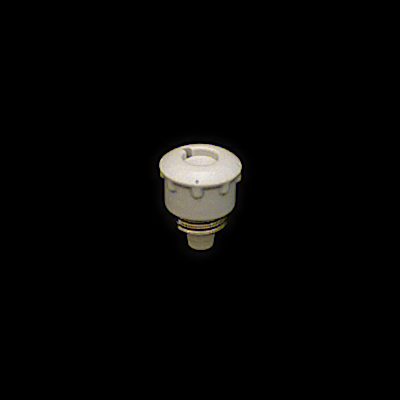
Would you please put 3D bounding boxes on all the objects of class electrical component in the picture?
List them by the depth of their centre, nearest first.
[{"bbox_3d":[0.000,0.000,0.640,0.048,0.063,0.047,1,32,0],"label":"electrical component"}]
